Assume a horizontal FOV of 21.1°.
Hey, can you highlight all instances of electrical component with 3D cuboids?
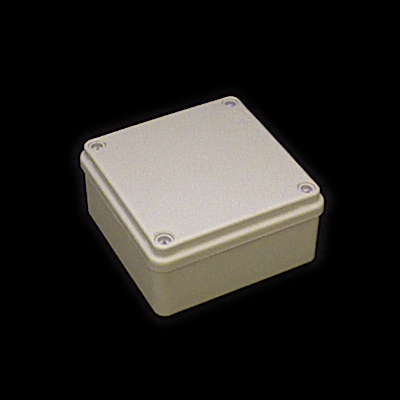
[{"bbox_3d":[0.000,0.000,0.631,0.109,0.056,0.107,-19,46,-21],"label":"electrical component"}]
